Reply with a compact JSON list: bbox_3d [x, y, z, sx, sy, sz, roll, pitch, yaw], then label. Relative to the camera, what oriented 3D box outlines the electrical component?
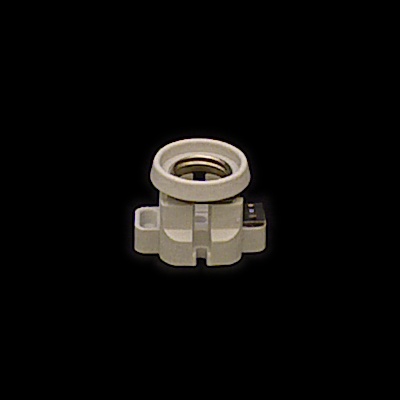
[{"bbox_3d":[0.000,0.000,0.636,0.078,0.057,0.057,0,31,-3],"label":"electrical component"}]
